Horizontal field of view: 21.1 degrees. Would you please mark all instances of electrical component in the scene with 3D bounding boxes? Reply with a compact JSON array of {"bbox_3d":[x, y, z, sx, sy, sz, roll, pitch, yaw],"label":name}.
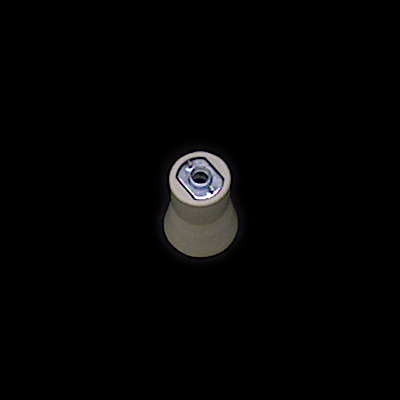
[{"bbox_3d":[0.000,0.000,0.624,0.044,0.044,0.065,0,-26,1],"label":"electrical component"}]
